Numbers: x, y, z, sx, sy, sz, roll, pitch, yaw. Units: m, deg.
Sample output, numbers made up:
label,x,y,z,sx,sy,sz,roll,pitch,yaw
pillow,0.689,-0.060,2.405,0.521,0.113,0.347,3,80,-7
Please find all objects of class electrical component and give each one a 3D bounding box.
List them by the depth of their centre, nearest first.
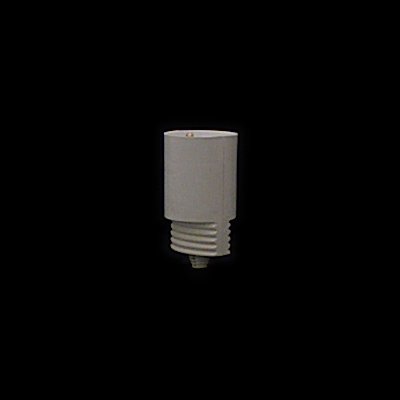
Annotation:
label,x,y,z,sx,sy,sz,roll,pitch,yaw
electrical component,0.000,0.000,0.641,0.043,0.081,0.043,1,10,0
